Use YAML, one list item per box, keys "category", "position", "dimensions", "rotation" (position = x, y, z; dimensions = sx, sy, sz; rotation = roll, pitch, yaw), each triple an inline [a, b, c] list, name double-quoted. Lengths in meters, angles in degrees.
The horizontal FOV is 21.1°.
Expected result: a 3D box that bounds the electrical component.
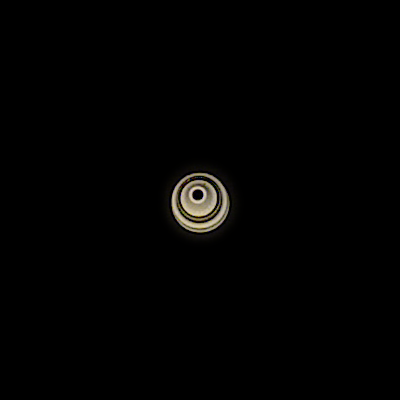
- category: "electrical component"
  position: [0.000, 0.000, 0.637]
  dimensions: [0.035, 0.035, 0.061]
  rotation: [0, -7, 1]
